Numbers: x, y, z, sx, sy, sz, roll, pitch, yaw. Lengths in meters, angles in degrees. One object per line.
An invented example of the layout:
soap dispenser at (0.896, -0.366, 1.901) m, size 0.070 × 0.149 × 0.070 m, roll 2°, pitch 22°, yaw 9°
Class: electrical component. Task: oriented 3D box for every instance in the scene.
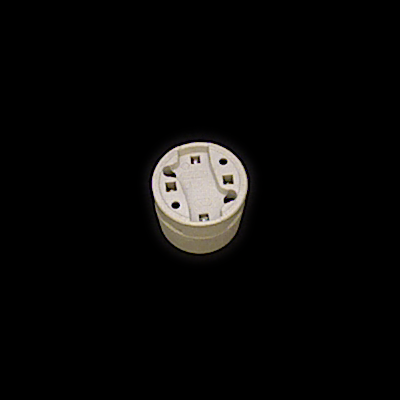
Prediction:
electrical component at (0.000, 0.000, 0.634) m, size 0.055 × 0.056 × 0.047 m, roll 0°, pitch -27°, yaw -1°
